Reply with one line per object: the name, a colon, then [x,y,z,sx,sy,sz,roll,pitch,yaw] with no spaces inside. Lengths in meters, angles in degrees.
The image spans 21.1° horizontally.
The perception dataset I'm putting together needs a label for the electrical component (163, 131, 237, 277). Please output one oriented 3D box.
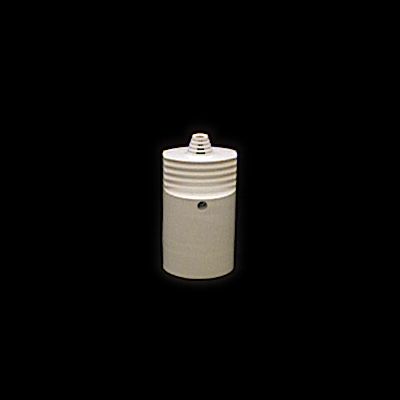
electrical component: [0.000,0.000,0.635,0.043,0.082,0.042,1,21,0]
